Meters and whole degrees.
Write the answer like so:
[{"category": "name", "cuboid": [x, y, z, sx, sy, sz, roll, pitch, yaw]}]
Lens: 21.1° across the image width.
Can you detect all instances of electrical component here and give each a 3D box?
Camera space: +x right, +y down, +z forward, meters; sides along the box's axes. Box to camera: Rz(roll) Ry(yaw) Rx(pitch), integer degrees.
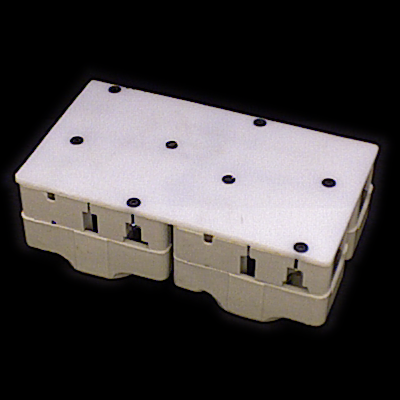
[{"category": "electrical component", "cuboid": [0.000, 0.000, 0.630, 0.186, 0.061, 0.105, 15, 44, 15]}]
